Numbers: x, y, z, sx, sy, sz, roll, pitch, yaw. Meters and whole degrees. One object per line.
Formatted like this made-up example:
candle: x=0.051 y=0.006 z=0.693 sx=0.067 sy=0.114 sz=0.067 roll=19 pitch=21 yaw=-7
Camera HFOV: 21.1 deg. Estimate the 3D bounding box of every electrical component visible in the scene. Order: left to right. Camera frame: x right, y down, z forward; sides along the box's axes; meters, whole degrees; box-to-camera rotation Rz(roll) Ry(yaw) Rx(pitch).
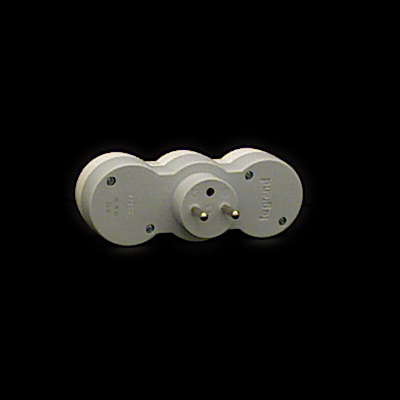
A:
electrical component: x=0.000 y=0.000 z=0.648 sx=0.139 sy=0.052 sz=0.072 roll=-3 pitch=14 yaw=-20
